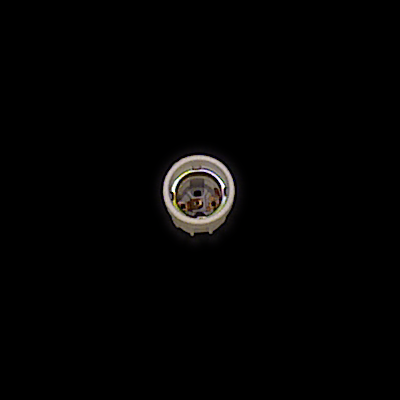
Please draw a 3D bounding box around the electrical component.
[{"bbox_3d":[0.000,0.000,0.626,0.040,0.040,0.046,0,-17,0],"label":"electrical component"}]
